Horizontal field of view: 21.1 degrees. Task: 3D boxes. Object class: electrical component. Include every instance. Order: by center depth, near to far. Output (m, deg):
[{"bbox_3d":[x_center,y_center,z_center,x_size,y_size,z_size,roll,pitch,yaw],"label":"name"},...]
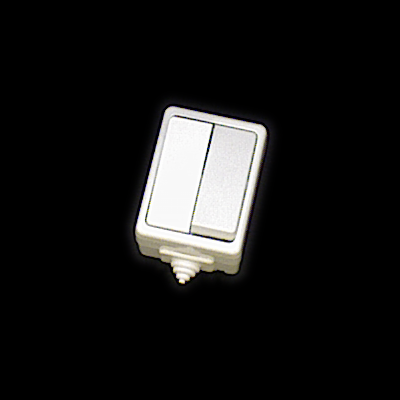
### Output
[{"bbox_3d":[0.000,0.000,0.625,0.062,0.097,0.060,12,-17,4],"label":"electrical component"}]
